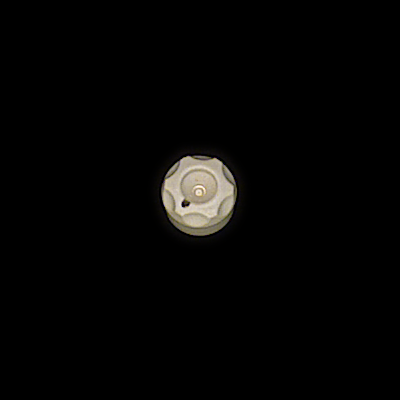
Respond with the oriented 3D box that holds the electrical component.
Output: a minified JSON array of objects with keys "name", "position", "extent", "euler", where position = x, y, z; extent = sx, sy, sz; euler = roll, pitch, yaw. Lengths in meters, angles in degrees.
[{"name":"electrical component","position":[0.000,0.000,0.634],"extent":[0.043,0.043,0.062],"euler":[0,-17,0]}]
